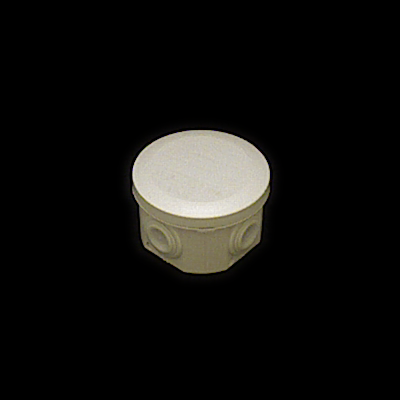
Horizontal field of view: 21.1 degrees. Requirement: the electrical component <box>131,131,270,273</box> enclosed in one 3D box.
[{"bbox_3d":[0.000,0.000,0.634,0.080,0.051,0.079,1,42,0],"label":"electrical component"}]
